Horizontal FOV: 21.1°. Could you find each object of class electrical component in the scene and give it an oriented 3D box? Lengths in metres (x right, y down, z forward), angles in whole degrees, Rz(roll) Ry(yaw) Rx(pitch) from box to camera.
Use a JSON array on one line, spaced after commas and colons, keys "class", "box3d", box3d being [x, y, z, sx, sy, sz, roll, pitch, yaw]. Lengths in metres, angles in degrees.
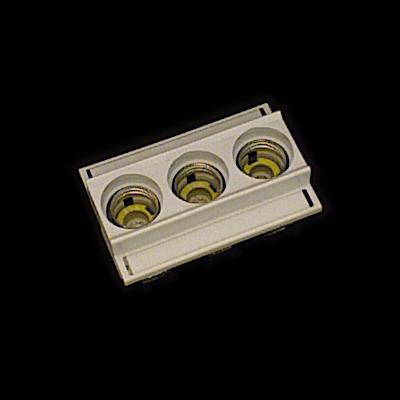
[{"class": "electrical component", "box3d": [0.000, 0.000, 0.638, 0.122, 0.078, 0.063, -20, -27, -10]}]
